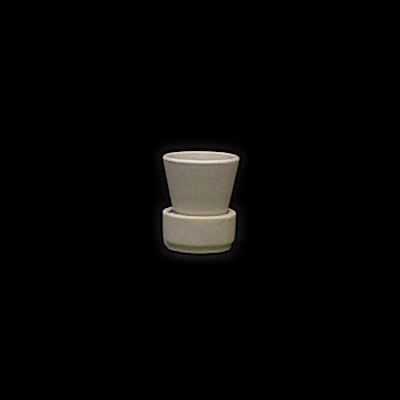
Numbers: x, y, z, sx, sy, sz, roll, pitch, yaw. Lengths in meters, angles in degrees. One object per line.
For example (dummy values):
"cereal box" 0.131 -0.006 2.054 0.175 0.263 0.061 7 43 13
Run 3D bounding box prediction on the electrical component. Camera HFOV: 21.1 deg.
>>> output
"electrical component" 0.000 0.000 0.644 0.045 0.055 0.044 1 12 0
